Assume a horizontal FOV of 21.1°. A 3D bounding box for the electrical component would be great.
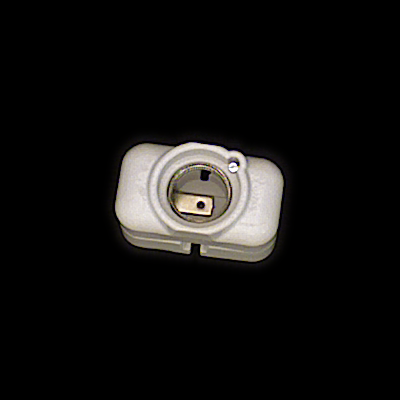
[{"bbox_3d":[0.000,0.000,0.634,0.095,0.054,0.059,7,-15,2],"label":"electrical component"}]
